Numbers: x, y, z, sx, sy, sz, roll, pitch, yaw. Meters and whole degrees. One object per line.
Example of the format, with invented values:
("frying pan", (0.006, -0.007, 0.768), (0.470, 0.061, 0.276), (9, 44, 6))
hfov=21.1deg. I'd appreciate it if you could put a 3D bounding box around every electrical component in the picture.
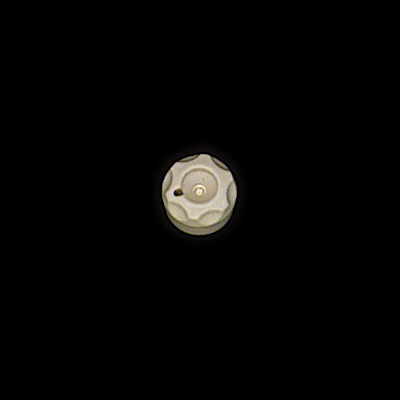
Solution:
("electrical component", (0.000, 0.000, 0.634), (0.043, 0.043, 0.061), (0, -17, 0))
